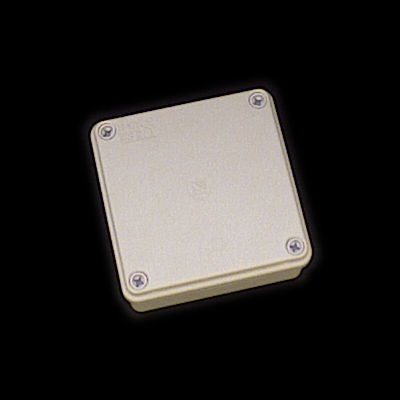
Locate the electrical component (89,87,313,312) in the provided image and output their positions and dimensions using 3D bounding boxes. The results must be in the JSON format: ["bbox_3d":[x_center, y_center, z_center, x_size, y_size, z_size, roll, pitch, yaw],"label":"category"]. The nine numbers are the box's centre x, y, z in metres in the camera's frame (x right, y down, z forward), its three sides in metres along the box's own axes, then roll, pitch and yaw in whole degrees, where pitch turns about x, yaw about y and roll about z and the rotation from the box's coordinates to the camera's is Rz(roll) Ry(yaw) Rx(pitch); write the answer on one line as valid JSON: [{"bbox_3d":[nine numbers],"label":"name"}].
[{"bbox_3d":[0.000,0.000,0.629,0.109,0.109,0.056,-12,-16,-4],"label":"electrical component"}]
